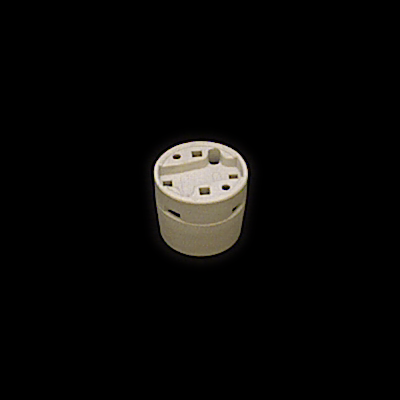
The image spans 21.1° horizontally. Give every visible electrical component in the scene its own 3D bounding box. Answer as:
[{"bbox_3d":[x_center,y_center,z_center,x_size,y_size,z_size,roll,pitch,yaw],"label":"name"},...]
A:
[{"bbox_3d":[0.000,0.000,0.635,0.055,0.047,0.055,1,42,0],"label":"electrical component"}]
